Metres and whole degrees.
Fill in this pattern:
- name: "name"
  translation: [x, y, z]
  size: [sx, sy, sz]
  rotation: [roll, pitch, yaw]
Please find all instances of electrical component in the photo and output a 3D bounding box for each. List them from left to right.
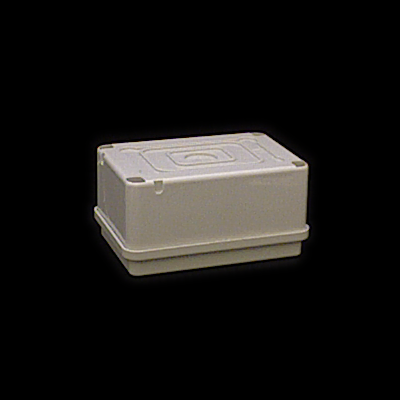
- name: "electrical component"
  translation: [0.000, 0.000, 0.640]
  size: [0.113, 0.058, 0.077]
  rotation: [-6, 22, -19]
